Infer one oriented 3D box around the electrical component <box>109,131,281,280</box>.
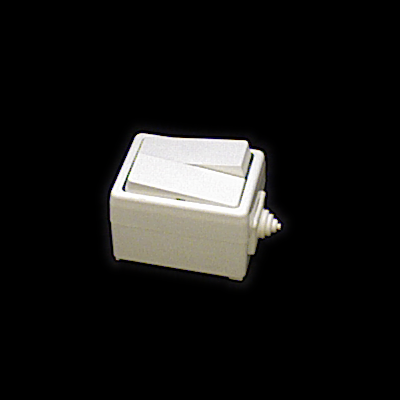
[{"bbox_3d":[0.000,0.000,0.630,0.096,0.061,0.061,9,42,9],"label":"electrical component"}]
